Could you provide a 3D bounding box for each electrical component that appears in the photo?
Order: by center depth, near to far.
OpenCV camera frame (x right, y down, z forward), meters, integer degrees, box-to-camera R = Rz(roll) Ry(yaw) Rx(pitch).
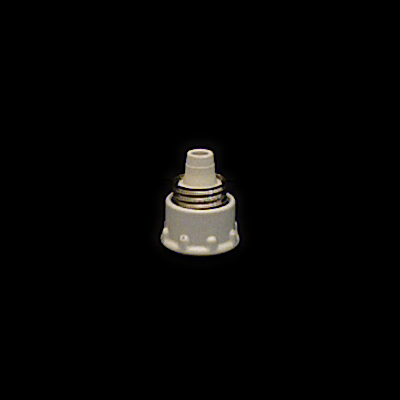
[{"bbox_3d":[0.000,0.000,0.646,0.048,0.063,0.047,1,21,0],"label":"electrical component"}]
